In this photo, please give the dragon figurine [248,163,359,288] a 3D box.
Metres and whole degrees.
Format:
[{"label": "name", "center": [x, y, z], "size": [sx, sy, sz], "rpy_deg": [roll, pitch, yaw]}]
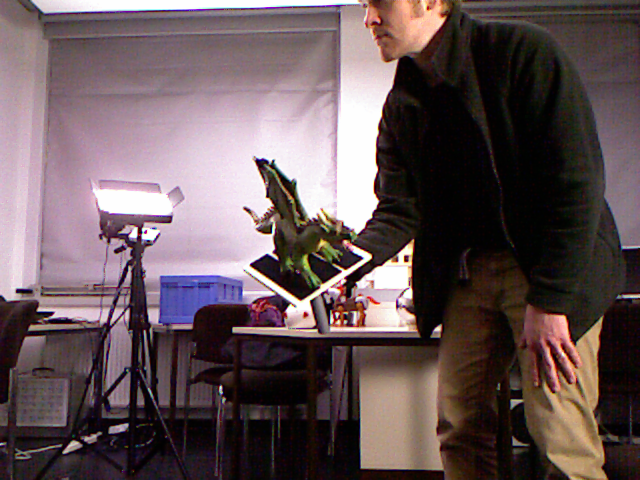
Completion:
[{"label": "dragon figurine", "center": [-0.072, -0.055, 1.039], "size": [0.124, 0.238, 0.415], "rpy_deg": [-35, 41, -26]}]
